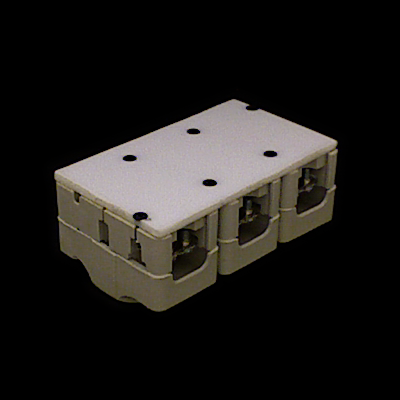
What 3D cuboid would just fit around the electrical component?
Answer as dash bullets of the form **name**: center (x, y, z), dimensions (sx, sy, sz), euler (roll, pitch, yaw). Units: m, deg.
- **electrical component**: center (0.000, 0.000, 0.643), dimensions (0.149, 0.063, 0.088), euler (-26, 40, -37)
